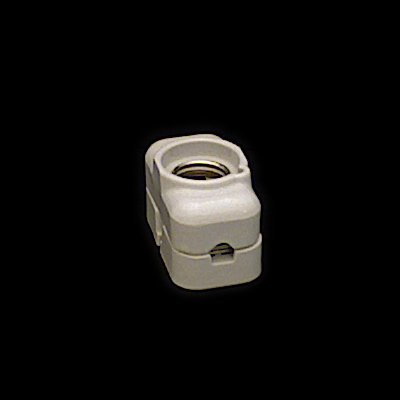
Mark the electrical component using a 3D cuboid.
[{"bbox_3d":[0.000,0.000,0.641,0.054,0.060,0.093,-8,34,-13],"label":"electrical component"}]
